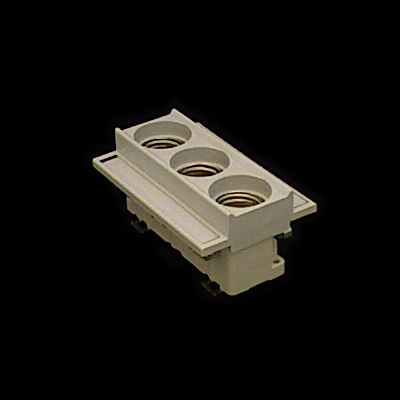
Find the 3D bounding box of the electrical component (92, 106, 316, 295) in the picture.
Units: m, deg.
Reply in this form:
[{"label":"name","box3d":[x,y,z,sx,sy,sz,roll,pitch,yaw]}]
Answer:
[{"label":"electrical component","box3d":[0.000,0.000,0.645,0.078,0.064,0.119,-21,38,-28]}]
